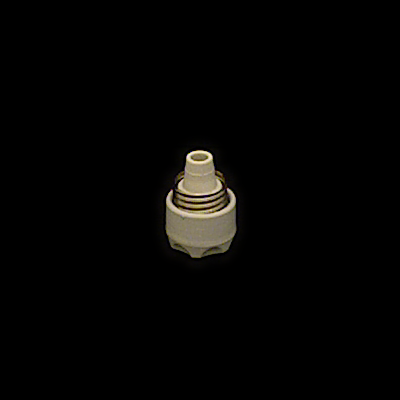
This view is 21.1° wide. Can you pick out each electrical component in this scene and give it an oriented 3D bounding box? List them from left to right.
[{"bbox_3d":[0.000,0.000,0.641,0.043,0.063,0.043,0,33,1],"label":"electrical component"}]
